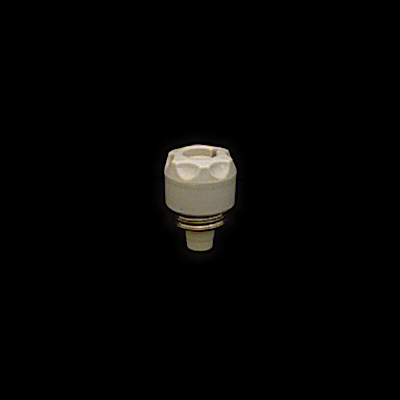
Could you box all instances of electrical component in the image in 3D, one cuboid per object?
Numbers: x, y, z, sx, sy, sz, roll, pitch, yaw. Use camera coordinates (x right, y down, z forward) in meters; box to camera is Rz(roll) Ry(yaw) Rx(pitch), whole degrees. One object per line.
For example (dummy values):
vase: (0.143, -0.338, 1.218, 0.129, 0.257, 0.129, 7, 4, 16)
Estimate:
electrical component: (0.000, 0.000, 0.645, 0.043, 0.063, 0.043, 1, 23, 0)
